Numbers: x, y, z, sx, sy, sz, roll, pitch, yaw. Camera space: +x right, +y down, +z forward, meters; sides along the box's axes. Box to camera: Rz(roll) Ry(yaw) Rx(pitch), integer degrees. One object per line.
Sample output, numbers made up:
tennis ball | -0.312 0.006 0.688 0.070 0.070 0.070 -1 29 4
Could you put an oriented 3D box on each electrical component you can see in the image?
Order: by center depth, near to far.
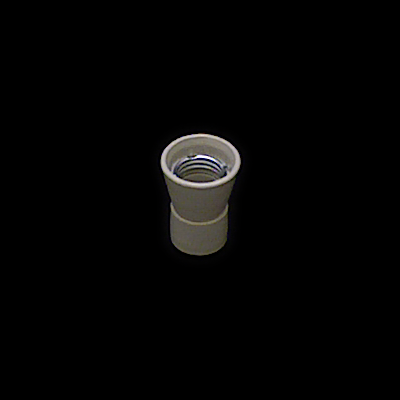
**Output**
electrical component | 0.000 0.000 0.628 0.044 0.066 0.044 1 43 -1
